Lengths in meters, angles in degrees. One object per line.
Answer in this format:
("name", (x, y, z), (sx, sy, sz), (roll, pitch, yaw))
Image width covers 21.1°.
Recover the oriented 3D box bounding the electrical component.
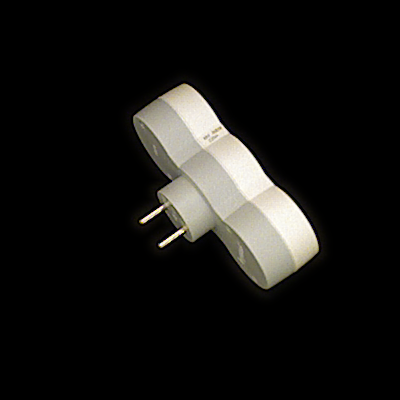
("electrical component", (0.000, 0.000, 0.637), (0.074, 0.137, 0.052), (-34, -21, -14))
